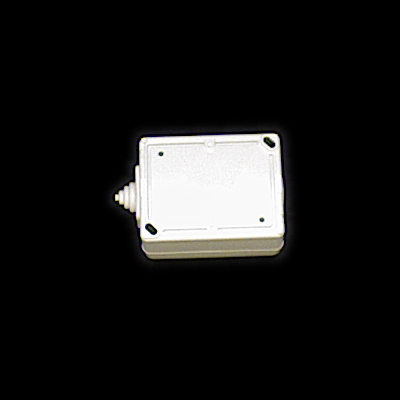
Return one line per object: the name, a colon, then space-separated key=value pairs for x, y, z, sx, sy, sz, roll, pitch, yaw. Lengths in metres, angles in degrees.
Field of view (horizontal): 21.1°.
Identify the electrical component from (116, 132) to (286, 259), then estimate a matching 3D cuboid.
electrical component: x=0.000 y=0.000 z=0.625 sx=0.096 sy=0.062 sz=0.060 roll=-2 pitch=-16 yaw=-1
